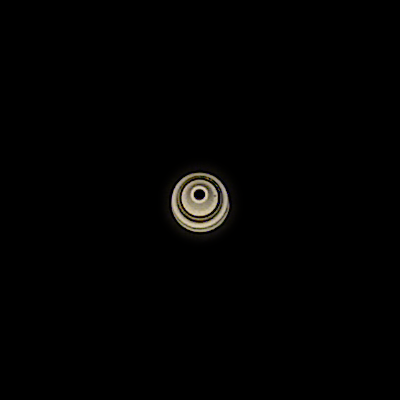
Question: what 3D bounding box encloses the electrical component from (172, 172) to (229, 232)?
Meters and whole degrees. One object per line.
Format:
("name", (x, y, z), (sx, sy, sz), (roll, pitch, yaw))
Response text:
("electrical component", (0.000, 0.000, 0.637), (0.035, 0.035, 0.061), (0, -6, 0))
